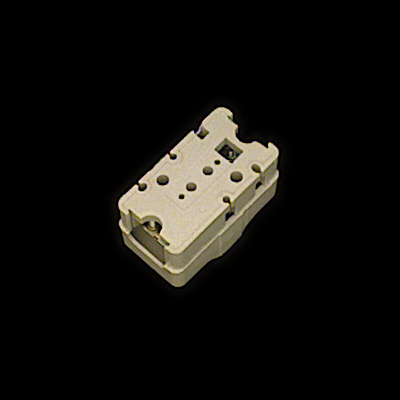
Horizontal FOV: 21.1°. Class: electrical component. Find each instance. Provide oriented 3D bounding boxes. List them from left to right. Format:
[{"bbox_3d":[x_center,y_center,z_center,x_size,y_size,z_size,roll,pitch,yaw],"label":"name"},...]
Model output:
[{"bbox_3d":[0.000,0.000,0.636,0.050,0.090,0.055,39,-21,18],"label":"electrical component"}]
